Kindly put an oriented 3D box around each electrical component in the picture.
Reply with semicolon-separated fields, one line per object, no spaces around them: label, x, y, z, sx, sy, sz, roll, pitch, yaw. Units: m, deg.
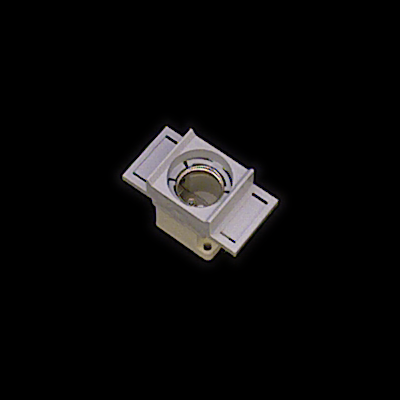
electrical component;0.000;0.000;0.625;0.080;0.042;0.063;34;-21;15
